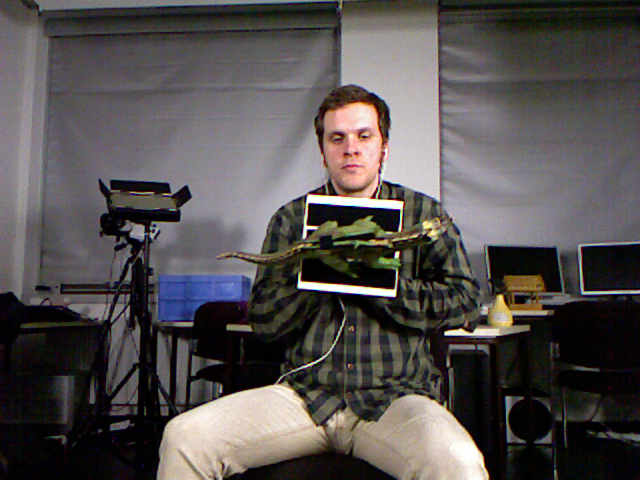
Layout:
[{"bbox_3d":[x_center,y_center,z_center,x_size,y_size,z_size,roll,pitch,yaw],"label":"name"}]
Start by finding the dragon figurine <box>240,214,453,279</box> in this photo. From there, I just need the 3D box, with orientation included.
[{"bbox_3d":[0.037,0.007,0.949,0.412,0.124,0.242,-9,-9,1],"label":"dragon figurine"}]
